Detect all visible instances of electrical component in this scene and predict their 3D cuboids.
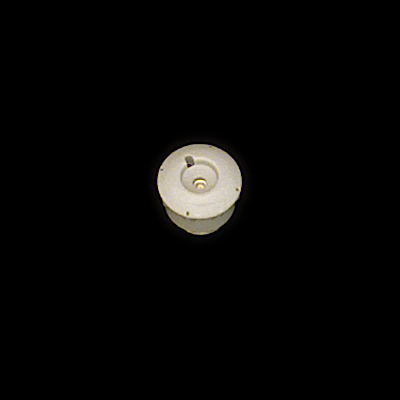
[{"bbox_3d":[0.000,0.000,0.633,0.048,0.048,0.062,0,-27,0],"label":"electrical component"}]
